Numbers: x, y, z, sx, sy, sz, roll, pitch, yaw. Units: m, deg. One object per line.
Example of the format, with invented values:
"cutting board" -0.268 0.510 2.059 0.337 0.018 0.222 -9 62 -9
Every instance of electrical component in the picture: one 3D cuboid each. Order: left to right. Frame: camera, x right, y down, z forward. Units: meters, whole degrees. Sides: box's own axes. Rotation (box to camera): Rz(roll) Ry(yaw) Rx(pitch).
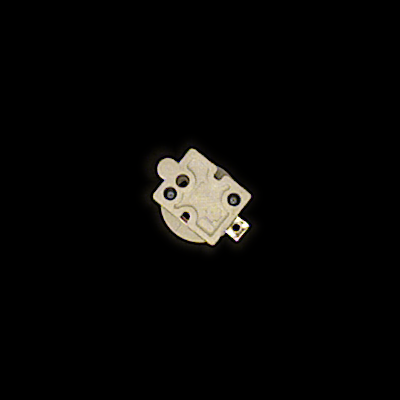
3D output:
"electrical component" 0.000 0.000 0.639 0.066 0.048 0.055 39 -5 3
